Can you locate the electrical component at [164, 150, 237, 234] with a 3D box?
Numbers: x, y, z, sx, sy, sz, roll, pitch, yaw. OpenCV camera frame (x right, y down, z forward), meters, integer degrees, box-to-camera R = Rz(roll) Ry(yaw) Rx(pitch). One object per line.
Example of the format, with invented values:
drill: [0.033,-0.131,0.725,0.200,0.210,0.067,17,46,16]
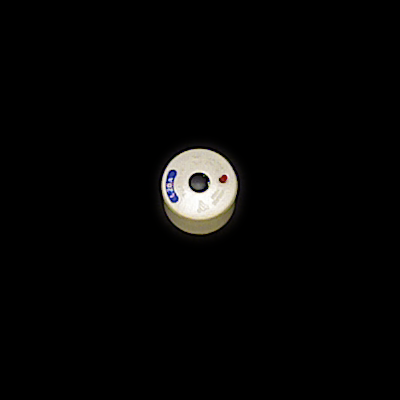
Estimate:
electrical component: [0.000,0.000,0.617,0.040,0.040,0.078,0,-17,-1]
